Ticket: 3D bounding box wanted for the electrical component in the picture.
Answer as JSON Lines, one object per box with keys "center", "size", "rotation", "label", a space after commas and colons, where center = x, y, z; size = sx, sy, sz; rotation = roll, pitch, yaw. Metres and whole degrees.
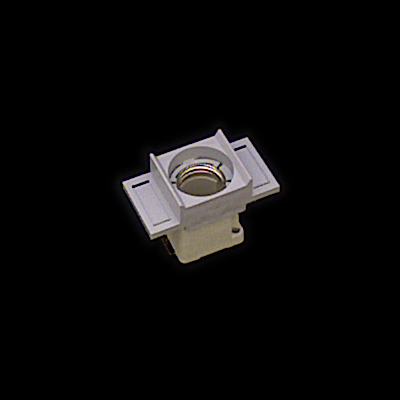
{"center": [0.000, 0.000, 0.627], "size": [0.081, 0.042, 0.064], "rotation": [-20, -36, -15], "label": "electrical component"}
